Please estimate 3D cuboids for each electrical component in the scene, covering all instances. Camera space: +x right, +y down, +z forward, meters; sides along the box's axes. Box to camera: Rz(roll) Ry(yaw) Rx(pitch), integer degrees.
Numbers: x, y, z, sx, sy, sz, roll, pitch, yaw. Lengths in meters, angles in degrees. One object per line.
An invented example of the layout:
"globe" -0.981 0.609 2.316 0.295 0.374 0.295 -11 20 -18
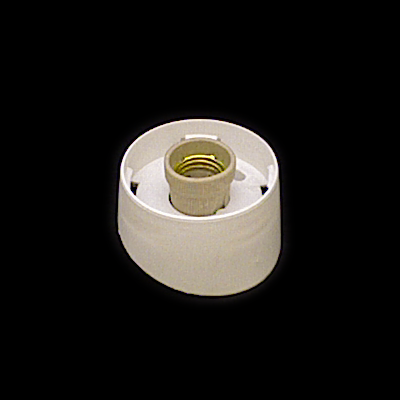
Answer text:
"electrical component" 0.000 0.000 0.629 0.099 0.065 0.098 1 42 0
